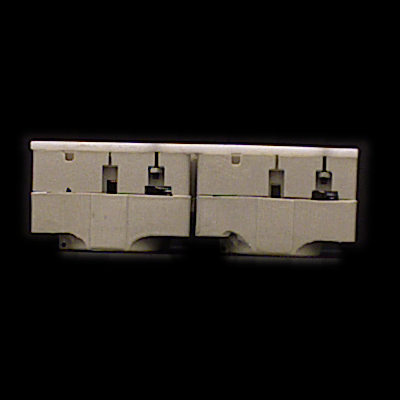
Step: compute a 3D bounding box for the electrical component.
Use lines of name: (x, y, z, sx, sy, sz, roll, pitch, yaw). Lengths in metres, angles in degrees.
electrical component: (0.000, 0.000, 0.650, 0.186, 0.060, 0.105, 1, 0, 5)
